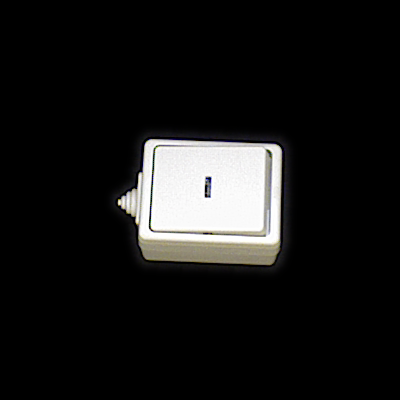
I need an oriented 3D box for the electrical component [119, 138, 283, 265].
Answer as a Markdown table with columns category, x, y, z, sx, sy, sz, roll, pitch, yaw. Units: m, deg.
| category | x | y | z | sx | sy | sz | roll | pitch | yaw |
| --- | --- | --- | --- | --- | --- | --- | --- | --- | --- |
| electrical component | 0.000 | 0.000 | 0.626 | 0.096 | 0.062 | 0.060 | 2 | -17 | 1 |
